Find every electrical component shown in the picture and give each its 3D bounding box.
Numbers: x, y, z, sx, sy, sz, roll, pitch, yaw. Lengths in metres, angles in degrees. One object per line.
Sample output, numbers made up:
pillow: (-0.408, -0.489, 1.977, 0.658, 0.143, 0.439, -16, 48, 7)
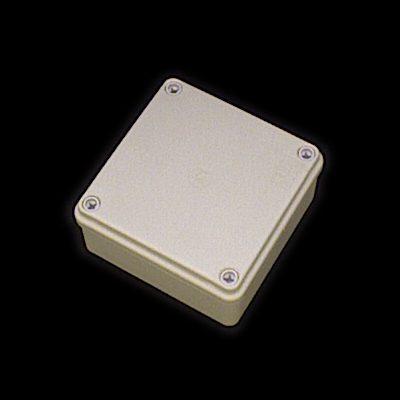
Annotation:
electrical component: (0.000, 0.000, 0.629, 0.108, 0.109, 0.056, 27, -24, 14)
